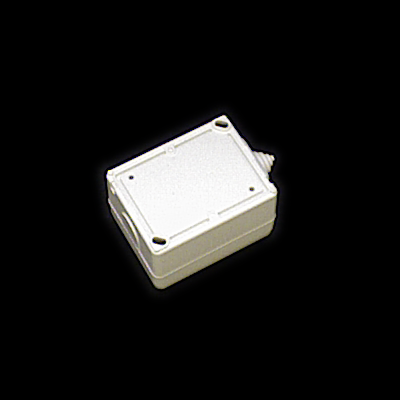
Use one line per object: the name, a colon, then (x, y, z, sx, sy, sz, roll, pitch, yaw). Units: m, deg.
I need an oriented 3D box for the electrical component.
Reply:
electrical component: (0.001, 0.000, 0.629, 0.096, 0.061, 0.061, -27, -25, -13)
